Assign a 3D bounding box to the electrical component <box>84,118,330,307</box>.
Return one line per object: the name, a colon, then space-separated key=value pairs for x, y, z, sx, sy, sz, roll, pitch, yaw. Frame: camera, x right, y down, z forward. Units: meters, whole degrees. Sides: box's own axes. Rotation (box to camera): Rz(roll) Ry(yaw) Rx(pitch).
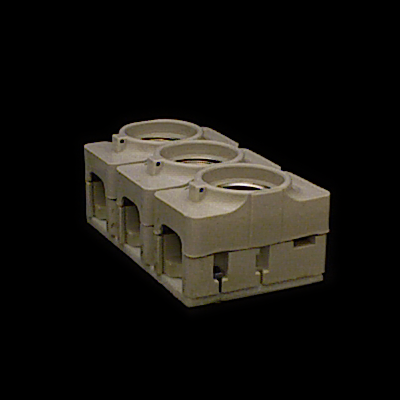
electrical component: x=0.000 y=0.000 z=0.644 sx=0.089 sy=0.063 sz=0.147 roll=-10 pitch=23 yaw=-27
